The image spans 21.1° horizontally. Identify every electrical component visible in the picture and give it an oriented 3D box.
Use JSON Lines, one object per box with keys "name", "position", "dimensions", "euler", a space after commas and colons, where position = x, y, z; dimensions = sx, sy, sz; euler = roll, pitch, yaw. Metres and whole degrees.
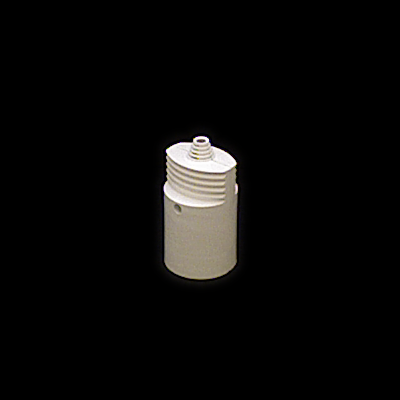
{"name": "electrical component", "position": [0.000, 0.000, 0.629], "dimensions": [0.043, 0.082, 0.042], "euler": [1, 31, 0]}
